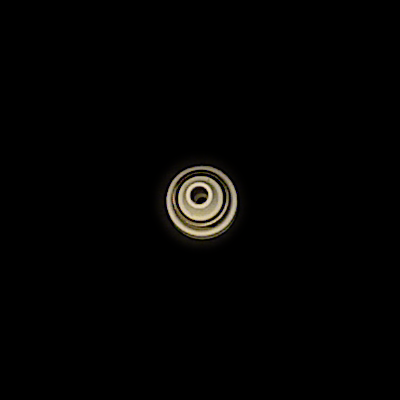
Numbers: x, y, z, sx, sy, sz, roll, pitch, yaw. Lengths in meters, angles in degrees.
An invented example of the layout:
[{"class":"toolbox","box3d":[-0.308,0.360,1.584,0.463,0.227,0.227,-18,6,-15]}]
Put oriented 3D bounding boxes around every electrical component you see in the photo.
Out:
[{"class":"electrical component","box3d":[0.000,0.000,0.635,0.043,0.043,0.062,0,-6,2]}]
